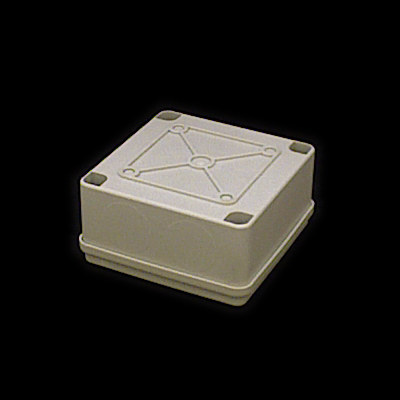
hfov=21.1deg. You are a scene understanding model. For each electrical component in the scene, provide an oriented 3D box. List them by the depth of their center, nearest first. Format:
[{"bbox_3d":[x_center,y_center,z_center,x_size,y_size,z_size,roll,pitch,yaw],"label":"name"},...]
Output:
[{"bbox_3d":[0.000,0.000,0.633,0.108,0.057,0.108,15,35,21],"label":"electrical component"}]
